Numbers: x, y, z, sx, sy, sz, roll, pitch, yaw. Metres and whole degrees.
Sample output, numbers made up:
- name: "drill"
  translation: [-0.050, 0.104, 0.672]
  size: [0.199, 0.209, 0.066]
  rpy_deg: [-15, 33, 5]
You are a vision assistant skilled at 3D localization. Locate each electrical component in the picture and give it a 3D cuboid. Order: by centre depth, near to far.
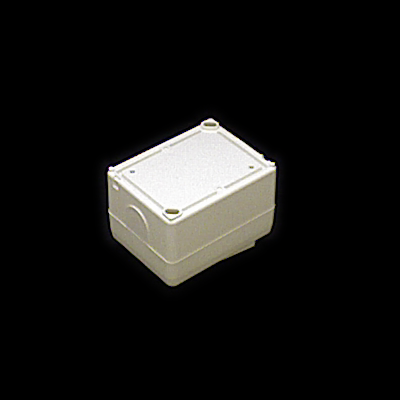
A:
- name: "electrical component"
  translation: [0.000, 0.000, 0.635]
  size: [0.096, 0.061, 0.061]
  rpy_deg: [-28, 48, -29]
